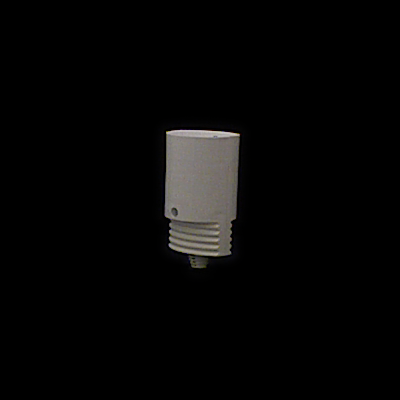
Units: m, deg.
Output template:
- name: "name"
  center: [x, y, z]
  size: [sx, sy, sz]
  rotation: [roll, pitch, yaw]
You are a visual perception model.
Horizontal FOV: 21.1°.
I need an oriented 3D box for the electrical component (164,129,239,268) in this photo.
- name: "electrical component"
  center: [0.000, 0.000, 0.642]
  size: [0.043, 0.082, 0.042]
  rotation: [1, 12, 0]
